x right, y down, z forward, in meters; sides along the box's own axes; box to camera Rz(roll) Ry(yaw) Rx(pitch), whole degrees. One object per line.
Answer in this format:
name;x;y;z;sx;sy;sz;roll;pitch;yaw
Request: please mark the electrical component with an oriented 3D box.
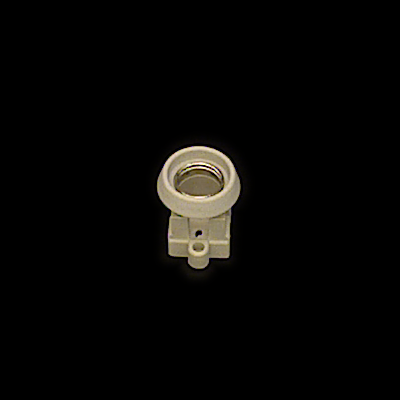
electrical component;0.000;0.000;0.638;0.048;0.066;0.056;2;-37;-1
